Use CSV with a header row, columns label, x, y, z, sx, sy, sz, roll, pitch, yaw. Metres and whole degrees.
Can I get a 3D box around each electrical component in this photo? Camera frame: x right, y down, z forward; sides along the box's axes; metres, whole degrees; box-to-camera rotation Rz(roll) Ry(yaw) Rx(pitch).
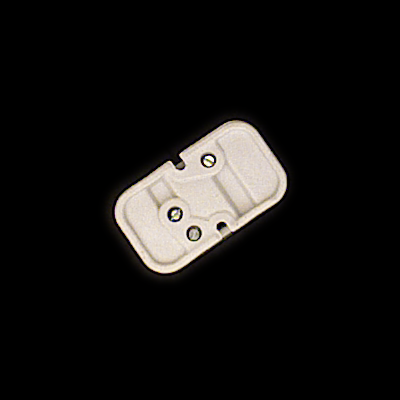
label,x,y,z,sx,sy,sz,roll,pitch,yaw
electrical component,0.000,0.000,0.636,0.095,0.054,0.059,-34,-5,-3
